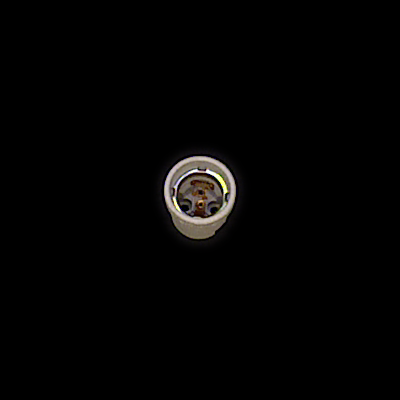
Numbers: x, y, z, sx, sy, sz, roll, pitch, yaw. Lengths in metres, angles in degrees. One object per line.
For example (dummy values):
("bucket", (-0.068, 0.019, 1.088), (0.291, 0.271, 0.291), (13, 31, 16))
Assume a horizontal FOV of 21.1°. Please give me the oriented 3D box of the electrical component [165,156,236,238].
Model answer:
("electrical component", (0.000, 0.000, 0.627), (0.040, 0.040, 0.046), (0, -17, -1))
